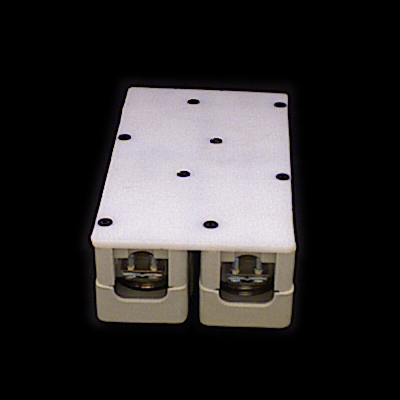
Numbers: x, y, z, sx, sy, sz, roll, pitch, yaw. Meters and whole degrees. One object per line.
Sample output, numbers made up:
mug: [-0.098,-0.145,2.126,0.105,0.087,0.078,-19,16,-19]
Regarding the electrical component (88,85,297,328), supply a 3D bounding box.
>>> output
electrical component: [0.000,0.000,0.634,0.105,0.061,0.183,2,31,2]
